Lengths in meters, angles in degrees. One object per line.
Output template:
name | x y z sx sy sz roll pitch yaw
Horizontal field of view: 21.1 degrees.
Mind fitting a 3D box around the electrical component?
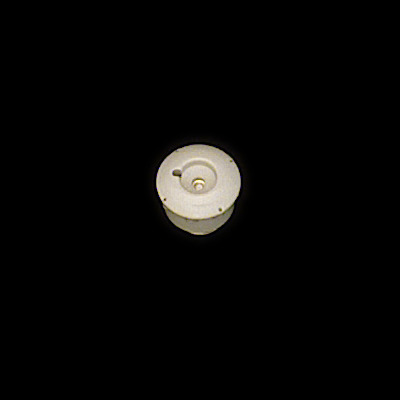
electrical component | 0.000 0.000 0.632 0.048 0.048 0.062 0 -27 0
